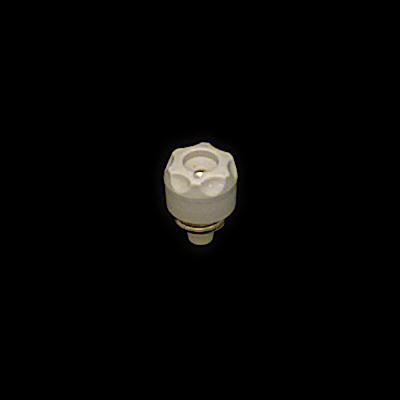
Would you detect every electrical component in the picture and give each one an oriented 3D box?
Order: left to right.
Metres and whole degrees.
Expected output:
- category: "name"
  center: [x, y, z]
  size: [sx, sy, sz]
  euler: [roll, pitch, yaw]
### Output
- category: "electrical component"
  center: [0.000, 0.000, 0.639]
  size: [0.043, 0.062, 0.043]
  euler: [0, 42, 0]
